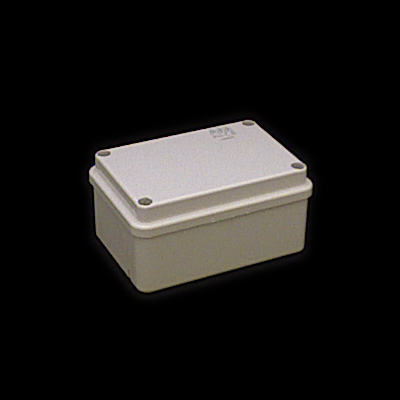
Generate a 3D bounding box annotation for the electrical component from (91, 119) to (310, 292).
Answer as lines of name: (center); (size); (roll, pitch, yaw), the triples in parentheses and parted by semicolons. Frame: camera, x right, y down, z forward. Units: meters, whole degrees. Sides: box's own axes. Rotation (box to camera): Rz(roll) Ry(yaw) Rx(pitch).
electrical component: (0.000, 0.000, 0.636); (0.113, 0.058, 0.077); (-14, 34, -23)
